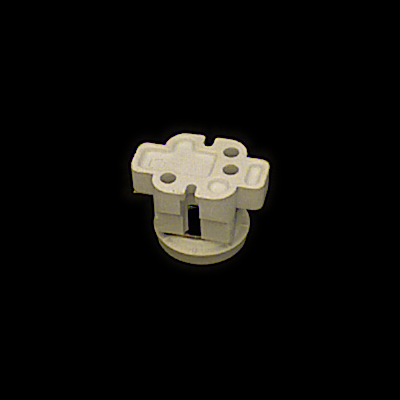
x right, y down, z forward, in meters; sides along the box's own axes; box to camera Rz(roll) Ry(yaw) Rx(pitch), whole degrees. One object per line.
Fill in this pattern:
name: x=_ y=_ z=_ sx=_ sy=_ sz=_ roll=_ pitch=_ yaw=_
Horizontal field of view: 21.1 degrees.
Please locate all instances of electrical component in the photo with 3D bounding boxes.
electrical component: x=0.000 y=0.000 z=0.638 sx=0.078 sy=0.057 sz=0.057 roll=8 pitch=44 yaw=9
